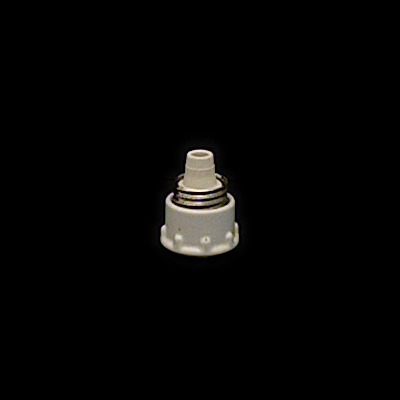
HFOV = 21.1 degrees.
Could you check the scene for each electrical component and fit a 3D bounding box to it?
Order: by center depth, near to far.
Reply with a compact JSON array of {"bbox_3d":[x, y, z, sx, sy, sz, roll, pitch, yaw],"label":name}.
[{"bbox_3d":[0.000,0.000,0.644,0.048,0.063,0.047,0,23,0],"label":"electrical component"}]
